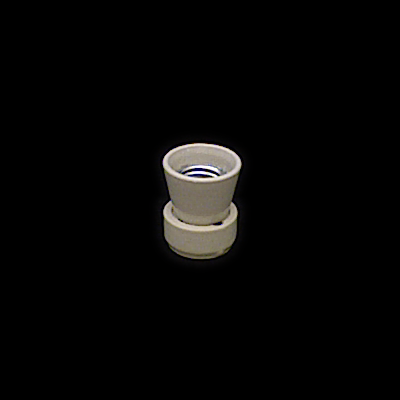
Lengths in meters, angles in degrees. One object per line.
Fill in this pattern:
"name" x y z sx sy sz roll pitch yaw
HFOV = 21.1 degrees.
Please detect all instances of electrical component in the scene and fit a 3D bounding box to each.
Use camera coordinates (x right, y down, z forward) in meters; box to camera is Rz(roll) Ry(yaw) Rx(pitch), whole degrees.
"electrical component" 0.000 0.000 0.637 0.045 0.056 0.044 1 31 -1
